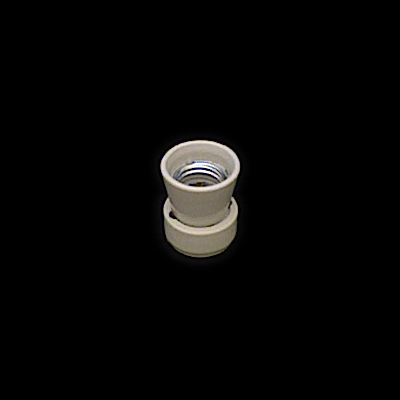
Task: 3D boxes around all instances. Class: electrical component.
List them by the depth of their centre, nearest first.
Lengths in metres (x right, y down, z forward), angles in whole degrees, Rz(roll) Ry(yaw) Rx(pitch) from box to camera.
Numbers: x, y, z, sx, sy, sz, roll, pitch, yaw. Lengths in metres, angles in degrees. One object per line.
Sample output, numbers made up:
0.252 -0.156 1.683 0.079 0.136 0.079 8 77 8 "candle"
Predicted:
0.000 0.000 0.632 0.045 0.055 0.044 1 41 0 "electrical component"
